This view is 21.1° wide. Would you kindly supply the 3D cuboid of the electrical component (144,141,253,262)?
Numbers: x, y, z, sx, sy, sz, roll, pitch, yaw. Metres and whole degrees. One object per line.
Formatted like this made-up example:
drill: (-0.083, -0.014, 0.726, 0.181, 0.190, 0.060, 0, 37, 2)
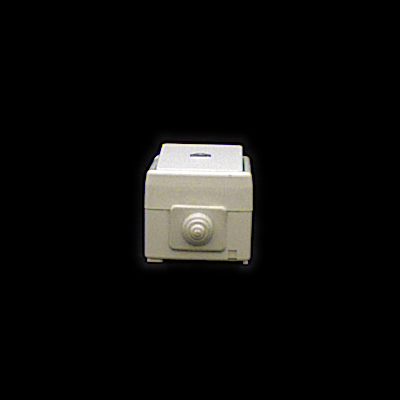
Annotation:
electrical component: (0.000, 0.000, 0.642, 0.062, 0.061, 0.095, 1, 10, 1)
